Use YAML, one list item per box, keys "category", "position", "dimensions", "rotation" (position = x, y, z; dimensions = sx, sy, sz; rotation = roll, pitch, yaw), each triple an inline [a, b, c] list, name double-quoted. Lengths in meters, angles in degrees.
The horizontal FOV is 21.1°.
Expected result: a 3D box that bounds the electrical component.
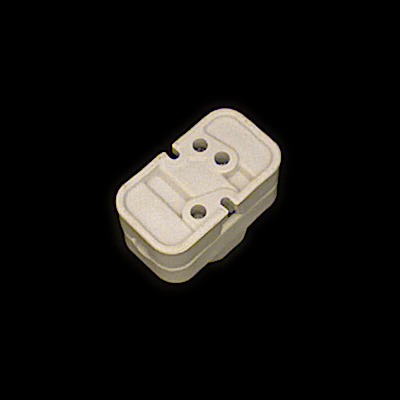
- category: "electrical component"
  position: [0.000, 0.000, 0.635]
  dimensions: [0.096, 0.053, 0.059]
  rotation: [-41, -20, -18]
